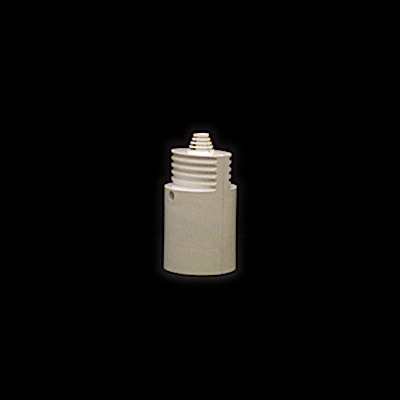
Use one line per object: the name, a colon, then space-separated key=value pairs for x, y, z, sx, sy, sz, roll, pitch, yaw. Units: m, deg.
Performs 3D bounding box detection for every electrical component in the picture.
electrical component: x=0.000 y=0.000 z=0.643 sx=0.043 sy=0.081 sz=0.043 roll=1 pitch=11 yaw=0
